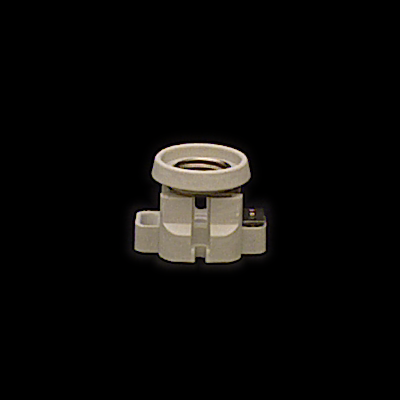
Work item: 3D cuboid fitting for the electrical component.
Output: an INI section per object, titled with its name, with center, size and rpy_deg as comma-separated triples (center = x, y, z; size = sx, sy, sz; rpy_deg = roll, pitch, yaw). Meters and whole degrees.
[electrical component]
center = 0.000, 0.000, 0.640
size = 0.078, 0.057, 0.057
rpy_deg = 1, 21, 0
